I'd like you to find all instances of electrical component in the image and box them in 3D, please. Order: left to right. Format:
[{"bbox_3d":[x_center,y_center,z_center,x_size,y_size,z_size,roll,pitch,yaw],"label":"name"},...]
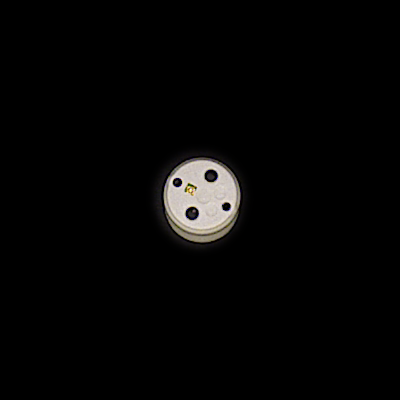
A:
[{"bbox_3d":[0.000,0.000,0.629,0.045,0.045,0.055,0,-6,0],"label":"electrical component"}]
